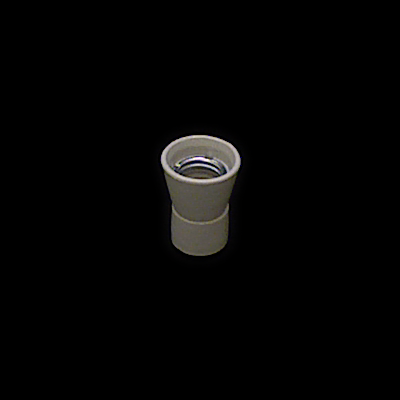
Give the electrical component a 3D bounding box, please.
[{"bbox_3d":[0.000,0.000,0.631,0.044,0.066,0.044,1,41,0],"label":"electrical component"}]
